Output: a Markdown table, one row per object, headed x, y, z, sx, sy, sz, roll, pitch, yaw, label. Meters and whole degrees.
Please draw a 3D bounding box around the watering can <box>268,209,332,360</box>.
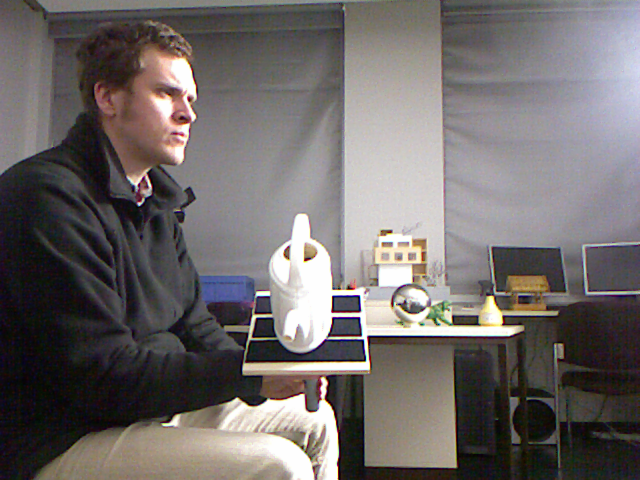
| x | y | z | sx | sy | sz | roll | pitch | yaw | label |
| --- | --- | --- | --- | --- | --- | --- | --- | --- | --- |
| -0.035 | 0.099 | 0.816 | 0.104 | 0.220 | 0.356 | 0 | 33 | 3 | watering can |
